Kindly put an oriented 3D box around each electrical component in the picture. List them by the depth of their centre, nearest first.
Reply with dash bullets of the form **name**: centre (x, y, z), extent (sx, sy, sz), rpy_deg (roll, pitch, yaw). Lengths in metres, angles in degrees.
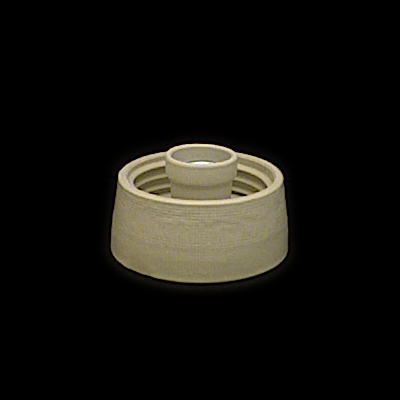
- **electrical component**: centre (0.000, 0.000, 0.644), extent (0.108, 0.061, 0.106), rpy_deg (1, 21, 0)
